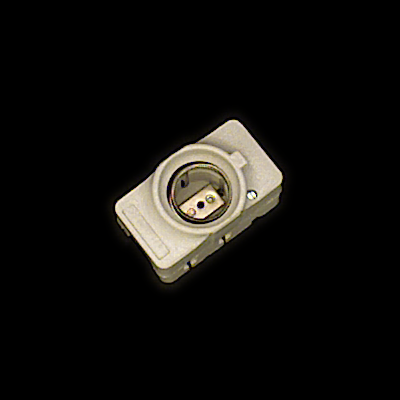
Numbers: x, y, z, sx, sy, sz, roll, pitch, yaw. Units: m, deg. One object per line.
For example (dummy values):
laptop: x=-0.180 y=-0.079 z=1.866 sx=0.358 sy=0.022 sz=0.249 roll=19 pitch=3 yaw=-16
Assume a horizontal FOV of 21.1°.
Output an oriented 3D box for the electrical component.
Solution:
electrical component: x=0.000 y=0.000 z=0.636 sx=0.090 sy=0.050 sz=0.055 roll=-37 pitch=-13 yaw=-10
